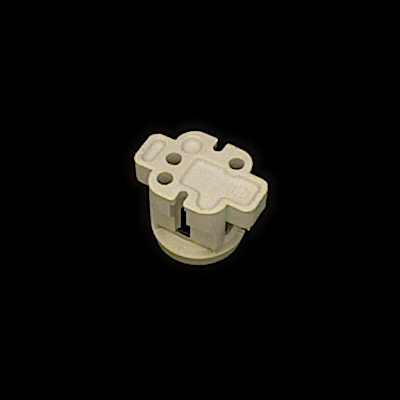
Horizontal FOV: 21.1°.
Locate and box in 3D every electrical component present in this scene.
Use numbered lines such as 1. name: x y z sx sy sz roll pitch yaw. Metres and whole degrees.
1. electrical component: 0.000 0.000 0.637 0.078 0.058 0.057 24 -34 15
